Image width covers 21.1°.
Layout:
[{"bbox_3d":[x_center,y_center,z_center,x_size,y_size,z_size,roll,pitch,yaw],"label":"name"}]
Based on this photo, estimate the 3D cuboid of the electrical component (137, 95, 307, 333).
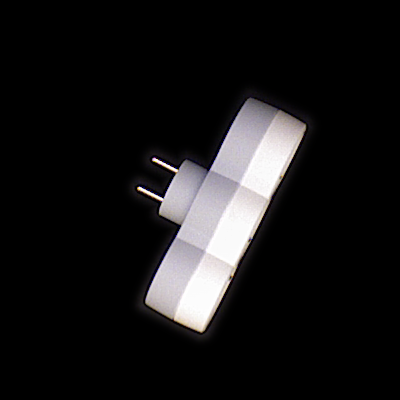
[{"bbox_3d":[0.000,0.000,0.631,0.074,0.138,0.052,26,-5,5],"label":"electrical component"}]
